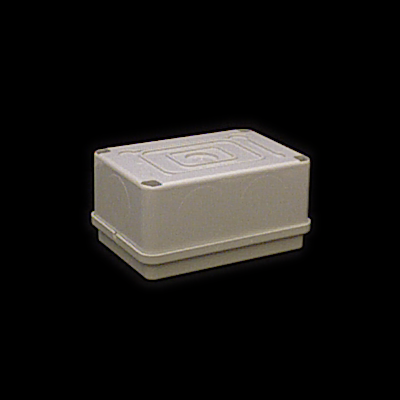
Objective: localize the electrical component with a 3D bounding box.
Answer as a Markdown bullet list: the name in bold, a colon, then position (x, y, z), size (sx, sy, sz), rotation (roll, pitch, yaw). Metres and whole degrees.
- **electrical component**: position (0.000, 0.000, 0.639), size (0.113, 0.058, 0.077), rotation (-11, 24, -28)
